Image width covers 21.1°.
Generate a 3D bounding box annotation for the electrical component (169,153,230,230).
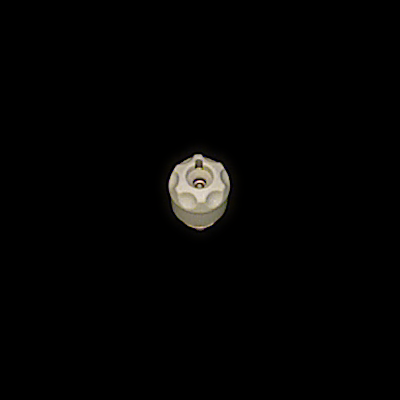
[{"bbox_3d":[0.000,0.000,0.635,0.035,0.035,0.061,0,-27,0],"label":"electrical component"}]
